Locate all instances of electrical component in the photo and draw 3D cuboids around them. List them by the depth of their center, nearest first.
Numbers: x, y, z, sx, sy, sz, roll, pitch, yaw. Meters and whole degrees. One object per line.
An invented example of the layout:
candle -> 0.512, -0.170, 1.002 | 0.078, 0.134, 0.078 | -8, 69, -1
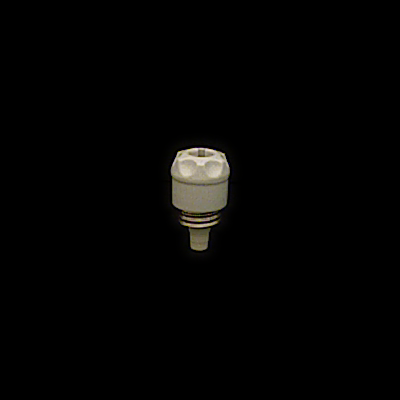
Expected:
electrical component -> 0.000, 0.000, 0.648 | 0.035, 0.062, 0.034 | 1, 22, 0
